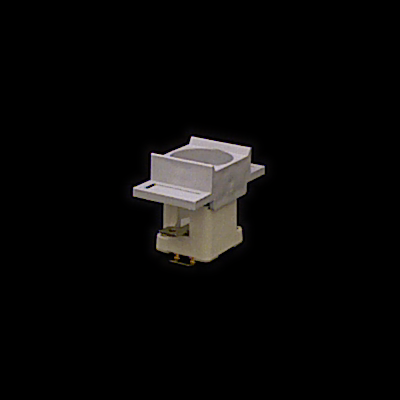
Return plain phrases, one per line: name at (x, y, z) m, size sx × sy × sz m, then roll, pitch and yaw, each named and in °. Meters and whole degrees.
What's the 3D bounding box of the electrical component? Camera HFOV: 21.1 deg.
electrical component at (0.000, 0.000, 0.635) m, size 0.042 × 0.064 × 0.080 m, roll 15°, pitch 24°, yaw 29°
